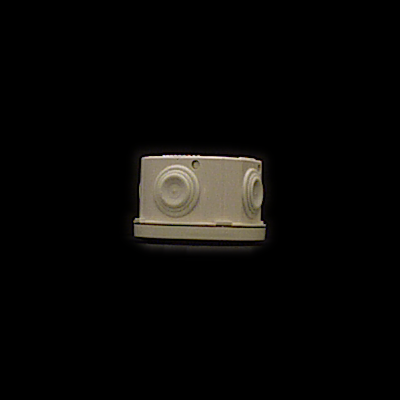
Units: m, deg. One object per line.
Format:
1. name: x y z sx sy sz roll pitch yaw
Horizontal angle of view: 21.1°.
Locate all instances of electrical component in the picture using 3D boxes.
1. electrical component: 0.000 0.000 0.651 0.080 0.051 0.080 2 0 0
